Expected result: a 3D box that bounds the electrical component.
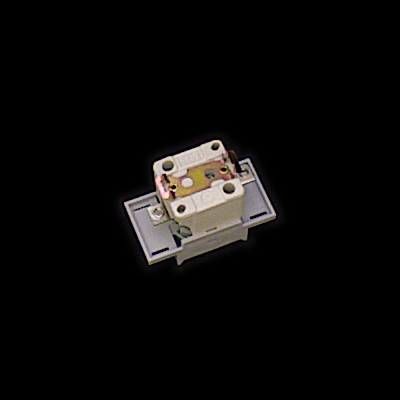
[{"bbox_3d":[0.000,0.000,0.625,0.081,0.042,0.063,-20,-25,-11],"label":"electrical component"}]
